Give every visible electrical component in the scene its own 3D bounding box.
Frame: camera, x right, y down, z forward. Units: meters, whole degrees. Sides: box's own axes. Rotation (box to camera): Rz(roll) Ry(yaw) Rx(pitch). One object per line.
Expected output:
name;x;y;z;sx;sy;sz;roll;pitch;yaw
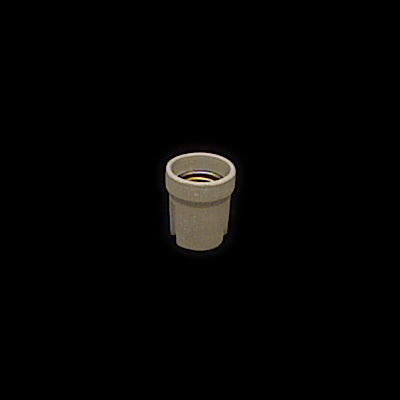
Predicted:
electrical component;0.000;0.000;0.637;0.040;0.047;0.039;1;32;0
